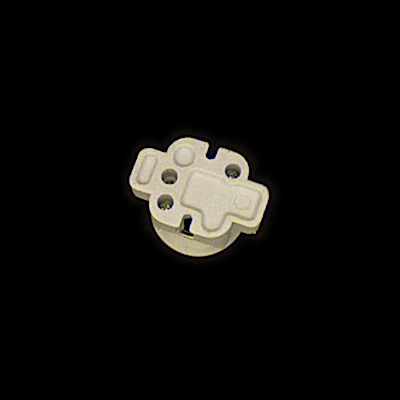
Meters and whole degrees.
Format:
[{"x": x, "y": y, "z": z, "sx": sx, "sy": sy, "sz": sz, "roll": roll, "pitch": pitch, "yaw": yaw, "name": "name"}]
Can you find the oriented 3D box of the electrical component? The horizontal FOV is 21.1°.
[{"x": 0.000, "y": 0.000, "z": 0.636, "sx": 0.078, "sy": 0.058, "sz": 0.056, "roll": 18, "pitch": -16, "yaw": 4, "name": "electrical component"}]
